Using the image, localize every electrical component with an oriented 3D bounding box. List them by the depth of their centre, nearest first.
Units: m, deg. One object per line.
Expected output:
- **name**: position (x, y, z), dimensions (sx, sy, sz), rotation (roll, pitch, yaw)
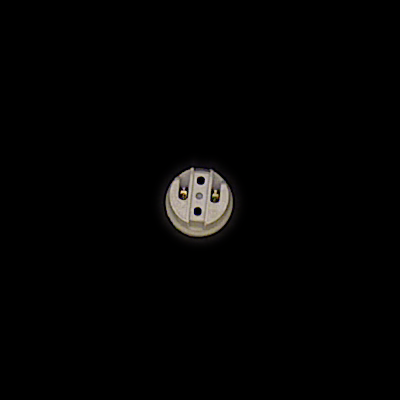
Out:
- **electrical component**: position (0.000, 0.000, 0.635), dimensions (0.040, 0.040, 0.046), rotation (0, -6, 0)
